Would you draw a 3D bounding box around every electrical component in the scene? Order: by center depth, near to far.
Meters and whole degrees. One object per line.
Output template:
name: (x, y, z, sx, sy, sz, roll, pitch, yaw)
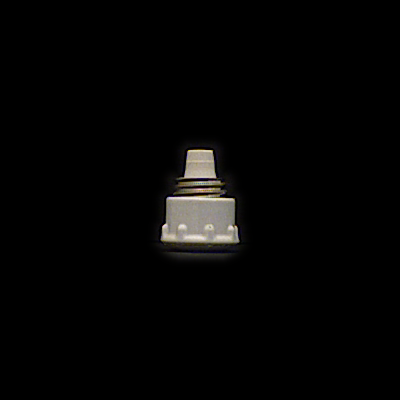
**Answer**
electrical component: (0.000, 0.000, 0.656, 0.048, 0.062, 0.048, 0, 1, 1)
